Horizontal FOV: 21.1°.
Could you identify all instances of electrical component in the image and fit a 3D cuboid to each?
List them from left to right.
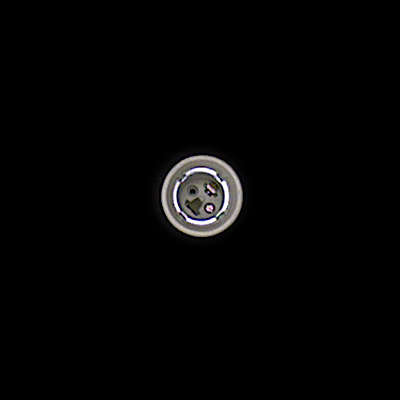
[{"bbox_3d":[0.000,0.000,0.624,0.044,0.044,0.065,0,-6,0],"label":"electrical component"}]
